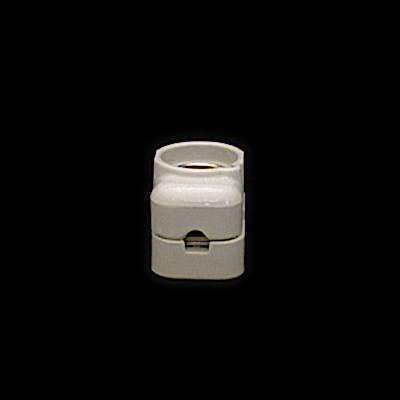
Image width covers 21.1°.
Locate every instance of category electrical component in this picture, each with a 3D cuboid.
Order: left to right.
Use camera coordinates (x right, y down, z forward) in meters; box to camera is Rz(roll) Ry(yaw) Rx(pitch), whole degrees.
[{"bbox_3d":[0.000,0.000,0.646,0.054,0.060,0.094,1,22,2],"label":"electrical component"}]
